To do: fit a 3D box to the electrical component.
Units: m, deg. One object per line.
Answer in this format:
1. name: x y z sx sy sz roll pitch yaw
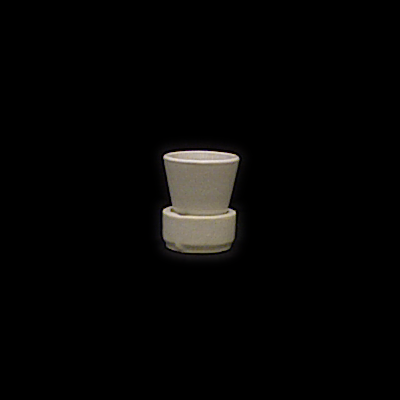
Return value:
1. electrical component: 0.000 0.000 0.645 0.045 0.055 0.044 2 12 0
